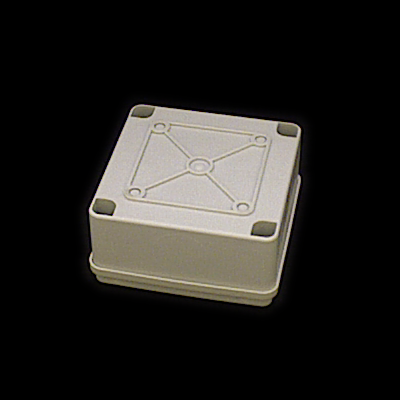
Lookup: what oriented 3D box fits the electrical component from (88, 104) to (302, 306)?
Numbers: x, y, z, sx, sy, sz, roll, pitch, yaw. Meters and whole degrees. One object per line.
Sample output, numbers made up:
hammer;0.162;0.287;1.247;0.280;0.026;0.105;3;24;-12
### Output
electrical component;0.000;0.000;0.630;0.108;0.056;0.108;8;42;8
